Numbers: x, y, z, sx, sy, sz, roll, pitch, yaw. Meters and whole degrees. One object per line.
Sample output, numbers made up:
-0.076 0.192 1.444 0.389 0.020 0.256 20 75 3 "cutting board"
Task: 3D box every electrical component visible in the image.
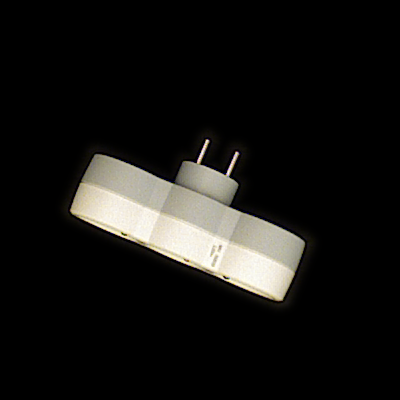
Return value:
0.000 0.000 0.640 0.138 0.074 0.052 23 -7 2 "electrical component"
